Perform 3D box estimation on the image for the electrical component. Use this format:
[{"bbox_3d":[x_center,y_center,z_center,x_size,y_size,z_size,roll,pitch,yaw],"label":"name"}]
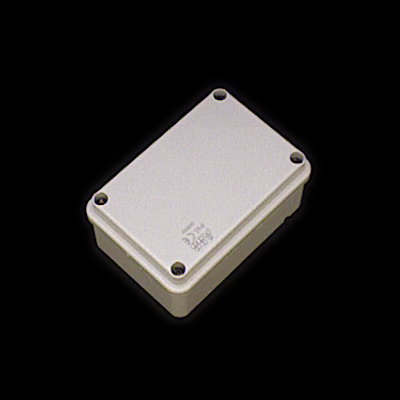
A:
[{"bbox_3d":[0.000,0.000,0.626,0.078,0.113,0.057,41,-21,18],"label":"electrical component"}]
